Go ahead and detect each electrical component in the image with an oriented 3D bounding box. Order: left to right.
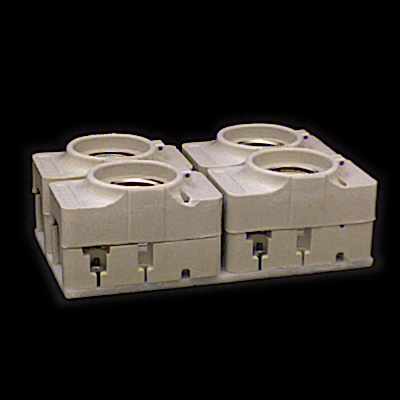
[{"bbox_3d":[0.000,0.000,0.640,0.186,0.061,0.104,-5,21,-17],"label":"electrical component"}]
